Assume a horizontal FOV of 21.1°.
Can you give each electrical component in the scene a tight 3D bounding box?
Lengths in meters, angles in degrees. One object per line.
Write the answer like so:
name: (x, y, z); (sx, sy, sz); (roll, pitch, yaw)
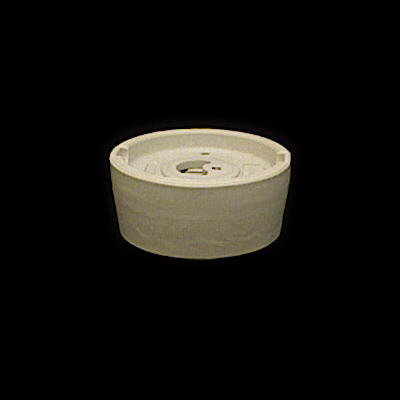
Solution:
electrical component: (0.000, 0.000, 0.648); (0.108, 0.061, 0.106); (1, 21, 0)
